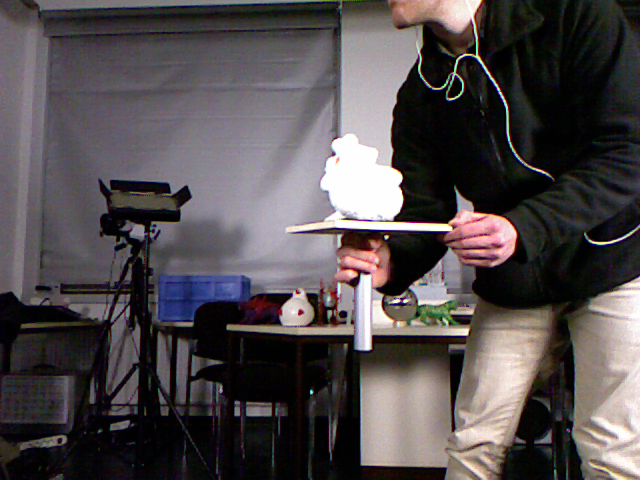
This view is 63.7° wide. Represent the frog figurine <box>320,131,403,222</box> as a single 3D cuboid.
[{"bbox_3d":[0.068,-0.102,0.852,0.138,0.159,0.123,0,3,0],"label":"frog figurine"}]
